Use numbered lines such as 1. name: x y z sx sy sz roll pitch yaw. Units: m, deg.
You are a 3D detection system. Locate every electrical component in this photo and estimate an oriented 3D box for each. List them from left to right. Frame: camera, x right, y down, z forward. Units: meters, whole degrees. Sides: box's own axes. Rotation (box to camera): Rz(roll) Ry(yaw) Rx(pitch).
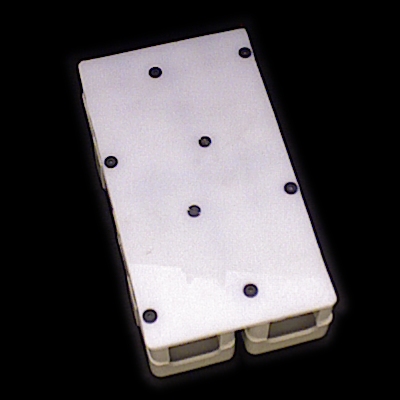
1. electrical component: 0.000 0.000 0.625 0.106 0.186 0.060 -13 -26 -6
